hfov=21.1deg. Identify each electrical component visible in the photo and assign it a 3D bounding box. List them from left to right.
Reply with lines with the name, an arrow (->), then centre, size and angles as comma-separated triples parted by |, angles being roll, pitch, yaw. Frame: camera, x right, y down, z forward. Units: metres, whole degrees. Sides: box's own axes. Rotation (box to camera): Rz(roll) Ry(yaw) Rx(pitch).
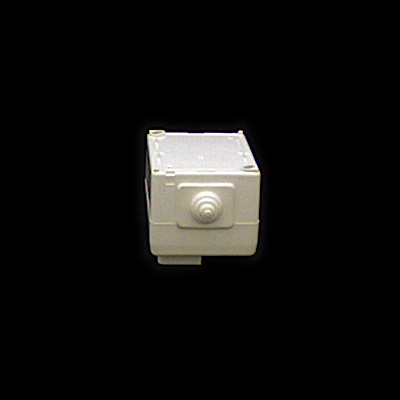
electrical component -> 0.000, 0.000, 0.632 | 0.062, 0.061, 0.095 | 0, 20, -5
